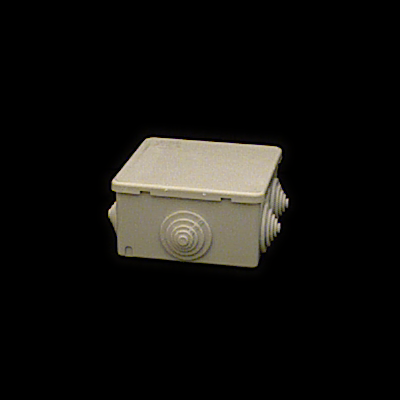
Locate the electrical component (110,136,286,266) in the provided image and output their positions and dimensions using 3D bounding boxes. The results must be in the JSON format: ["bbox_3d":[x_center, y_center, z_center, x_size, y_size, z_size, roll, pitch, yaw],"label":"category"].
[{"bbox_3d":[0.000,0.000,0.648,0.099,0.049,0.099,5,22,9],"label":"electrical component"}]
